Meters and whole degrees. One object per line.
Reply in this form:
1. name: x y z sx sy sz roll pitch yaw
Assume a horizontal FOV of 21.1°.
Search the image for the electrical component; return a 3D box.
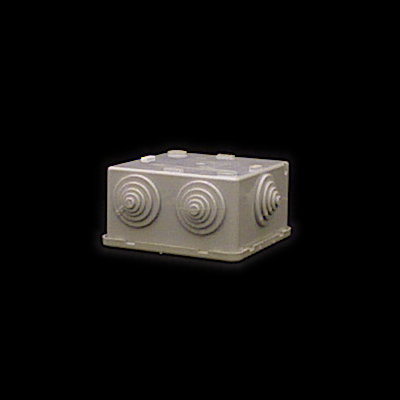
1. electrical component: 0.000 0.000 0.645 0.099 0.049 0.099 6 12 25
